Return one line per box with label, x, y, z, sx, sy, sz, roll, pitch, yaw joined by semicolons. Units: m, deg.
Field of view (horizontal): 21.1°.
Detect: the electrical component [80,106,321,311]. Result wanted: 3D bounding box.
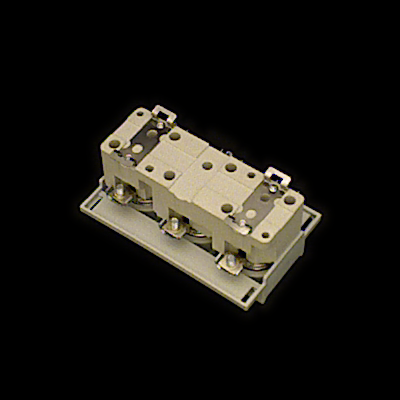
electrical component;0.000;0.000;0.633;0.120;0.079;0.063;30;-31;20
